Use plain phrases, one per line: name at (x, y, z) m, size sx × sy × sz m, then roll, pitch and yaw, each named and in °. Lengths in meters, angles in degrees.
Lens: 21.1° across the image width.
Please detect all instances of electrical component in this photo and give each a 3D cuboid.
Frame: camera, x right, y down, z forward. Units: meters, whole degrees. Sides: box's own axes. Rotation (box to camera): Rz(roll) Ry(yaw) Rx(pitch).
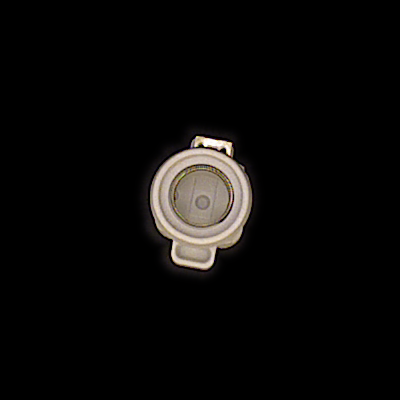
electrical component at (0.000, 0.000, 0.630) m, size 0.058 × 0.079 × 0.056 m, roll 10°, pitch -6°, yaw 2°
